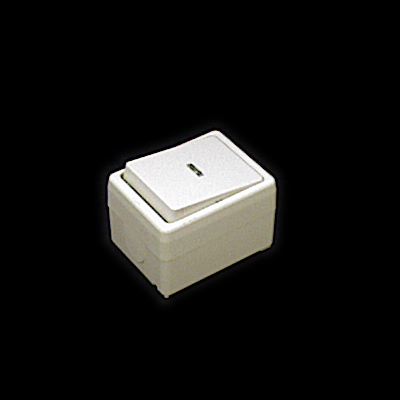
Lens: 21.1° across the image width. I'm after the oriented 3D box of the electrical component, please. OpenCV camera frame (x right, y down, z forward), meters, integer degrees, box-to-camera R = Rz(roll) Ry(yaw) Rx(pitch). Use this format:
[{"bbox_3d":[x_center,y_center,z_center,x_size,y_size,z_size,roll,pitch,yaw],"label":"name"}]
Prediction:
[{"bbox_3d":[0.000,0.000,0.631,0.096,0.061,0.061,-25,48,-26],"label":"electrical component"}]
